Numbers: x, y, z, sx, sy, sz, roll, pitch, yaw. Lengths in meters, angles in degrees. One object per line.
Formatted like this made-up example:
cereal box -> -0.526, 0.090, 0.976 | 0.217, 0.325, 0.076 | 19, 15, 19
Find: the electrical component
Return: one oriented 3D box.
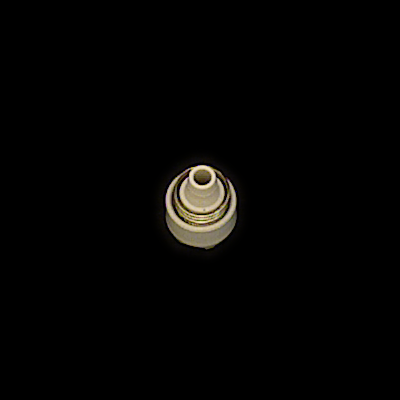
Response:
electrical component -> 0.000, 0.000, 0.633 | 0.043, 0.043, 0.062 | 0, -26, -1
